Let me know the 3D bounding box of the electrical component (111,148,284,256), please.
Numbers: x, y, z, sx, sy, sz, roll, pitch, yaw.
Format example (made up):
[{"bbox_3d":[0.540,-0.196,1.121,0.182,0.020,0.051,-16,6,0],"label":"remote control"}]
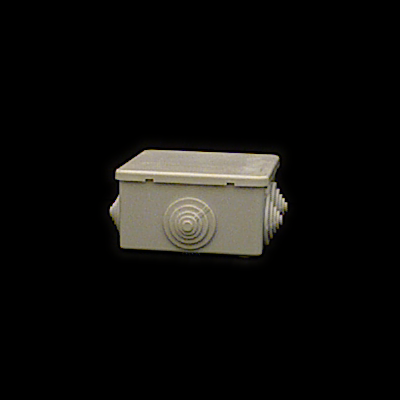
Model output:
[{"bbox_3d":[0.000,0.000,0.652,0.099,0.049,0.099,3,11,8],"label":"electrical component"}]
